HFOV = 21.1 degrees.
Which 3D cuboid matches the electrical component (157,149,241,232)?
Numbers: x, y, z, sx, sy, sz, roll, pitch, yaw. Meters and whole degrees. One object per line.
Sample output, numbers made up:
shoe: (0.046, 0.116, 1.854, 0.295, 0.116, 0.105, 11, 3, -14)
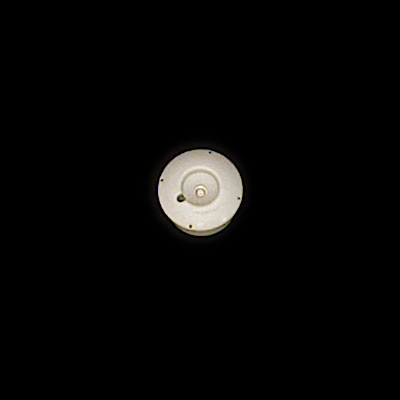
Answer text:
electrical component: (0.000, 0.000, 0.632, 0.048, 0.048, 0.061, 0, -16, 1)
